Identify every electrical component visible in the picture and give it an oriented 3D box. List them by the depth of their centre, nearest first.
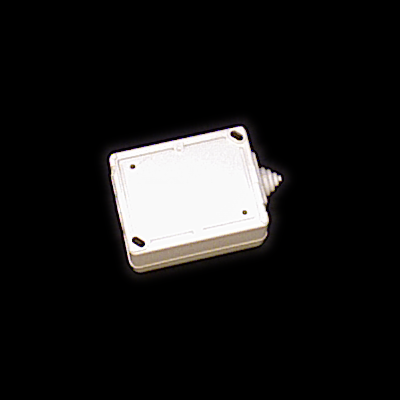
[{"bbox_3d":[0.000,0.000,0.627,0.096,0.062,0.060,-12,-16,-5],"label":"electrical component"}]
